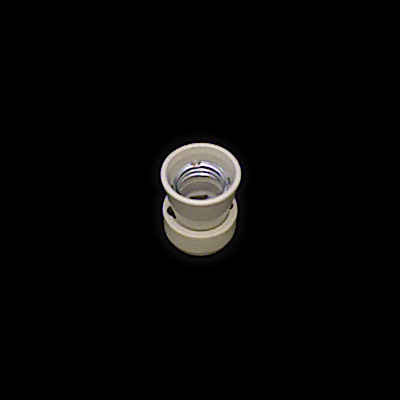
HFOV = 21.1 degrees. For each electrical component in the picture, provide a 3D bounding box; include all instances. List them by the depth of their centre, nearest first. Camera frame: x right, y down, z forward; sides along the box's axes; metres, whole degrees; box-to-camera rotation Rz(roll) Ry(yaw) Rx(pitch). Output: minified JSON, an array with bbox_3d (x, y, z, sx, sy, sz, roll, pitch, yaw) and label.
[{"bbox_3d":[0.000,0.000,0.629,0.045,0.044,0.055,0,-37,0],"label":"electrical component"}]
